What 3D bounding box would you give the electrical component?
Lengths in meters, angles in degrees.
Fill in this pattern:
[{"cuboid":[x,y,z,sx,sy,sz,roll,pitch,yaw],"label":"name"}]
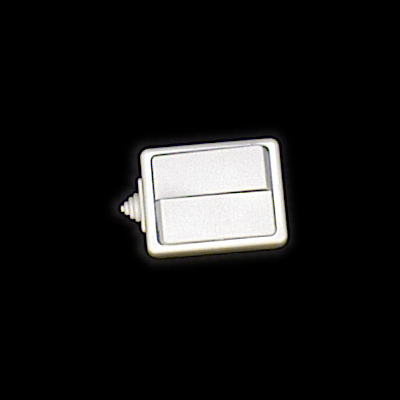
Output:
[{"cuboid":[0.000,0.000,0.627,0.096,0.062,0.061,-5,-7,0],"label":"electrical component"}]
